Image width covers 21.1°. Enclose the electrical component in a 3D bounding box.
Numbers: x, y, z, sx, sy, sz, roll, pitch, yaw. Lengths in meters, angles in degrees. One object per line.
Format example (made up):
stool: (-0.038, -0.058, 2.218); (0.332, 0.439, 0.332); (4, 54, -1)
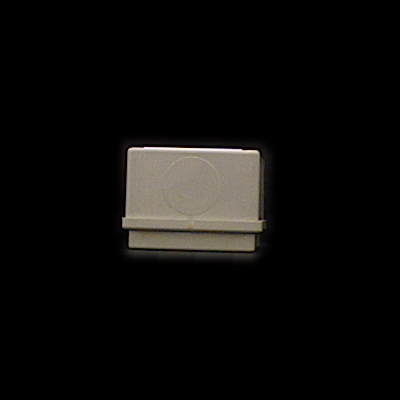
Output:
electrical component: (0.000, 0.000, 0.649); (0.078, 0.057, 0.113); (1, 1, 5)
